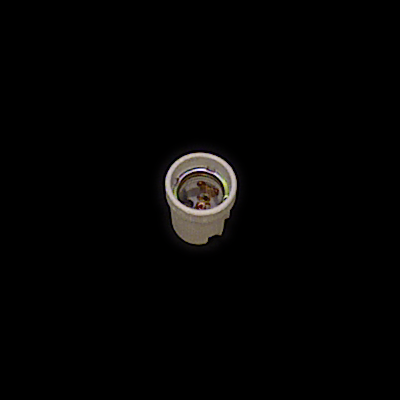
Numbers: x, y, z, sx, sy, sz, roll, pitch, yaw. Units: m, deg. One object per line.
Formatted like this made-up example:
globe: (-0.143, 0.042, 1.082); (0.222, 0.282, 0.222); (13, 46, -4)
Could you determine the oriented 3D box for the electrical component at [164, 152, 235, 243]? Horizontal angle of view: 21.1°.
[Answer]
electrical component: (0.000, 0.000, 0.627); (0.040, 0.040, 0.046); (0, -27, 0)
